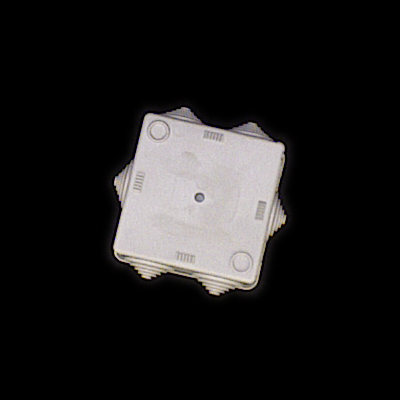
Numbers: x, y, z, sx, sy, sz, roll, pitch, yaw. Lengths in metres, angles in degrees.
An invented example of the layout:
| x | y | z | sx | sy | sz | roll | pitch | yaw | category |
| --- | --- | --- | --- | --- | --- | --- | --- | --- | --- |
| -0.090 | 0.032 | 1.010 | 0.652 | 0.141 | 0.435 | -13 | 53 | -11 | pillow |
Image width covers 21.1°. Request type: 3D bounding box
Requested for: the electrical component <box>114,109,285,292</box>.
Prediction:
| x | y | z | sx | sy | sz | roll | pitch | yaw | category |
| --- | --- | --- | --- | --- | --- | --- | --- | --- | --- |
| 0.000 | 0.000 | 0.632 | 0.100 | 0.100 | 0.048 | 13 | -6 | 1 | electrical component |
